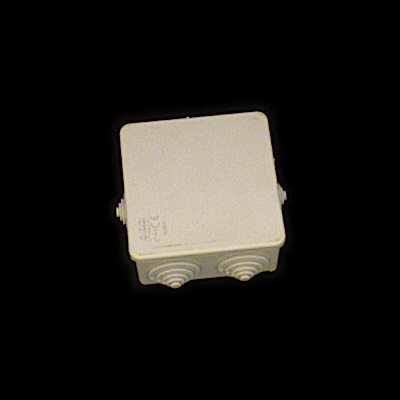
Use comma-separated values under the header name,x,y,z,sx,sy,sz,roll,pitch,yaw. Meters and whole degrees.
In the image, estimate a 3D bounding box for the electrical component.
name,x,y,z,sx,sy,sz,roll,pitch,yaw
electrical component,0.000,0.000,0.639,0.100,0.100,0.048,-5,-26,-3
